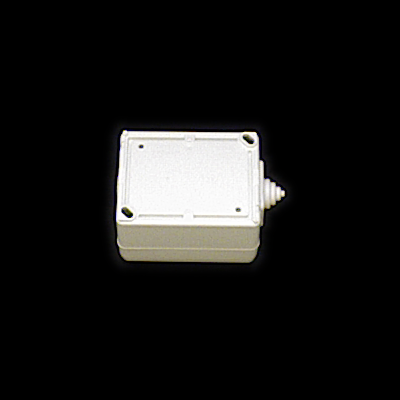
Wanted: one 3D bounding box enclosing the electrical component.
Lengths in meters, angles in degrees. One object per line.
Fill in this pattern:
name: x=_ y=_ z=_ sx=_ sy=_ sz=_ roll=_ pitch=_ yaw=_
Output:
electrical component: x=0.000 y=0.000 z=0.627 sx=0.096 sy=0.062 sz=0.061 roll=1 pitch=-28 yaw=0
